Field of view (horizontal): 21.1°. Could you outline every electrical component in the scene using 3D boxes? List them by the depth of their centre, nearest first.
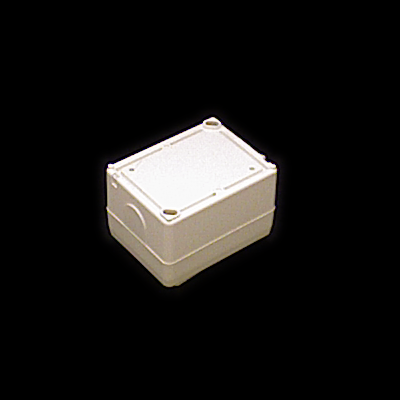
[{"bbox_3d":[0.000,0.000,0.630,0.096,0.061,0.061,-27,49,-28],"label":"electrical component"}]
